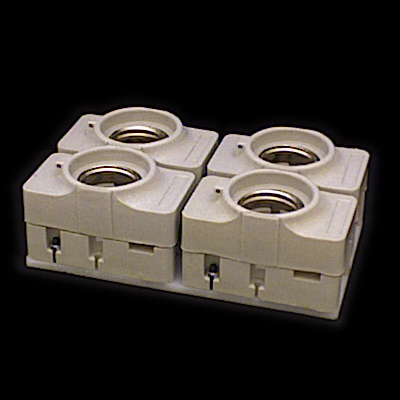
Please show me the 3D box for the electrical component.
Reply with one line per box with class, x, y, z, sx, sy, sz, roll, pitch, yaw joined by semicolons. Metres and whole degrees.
electrical component;0.000;0.000;0.633;0.186;0.061;0.104;9;32;13
